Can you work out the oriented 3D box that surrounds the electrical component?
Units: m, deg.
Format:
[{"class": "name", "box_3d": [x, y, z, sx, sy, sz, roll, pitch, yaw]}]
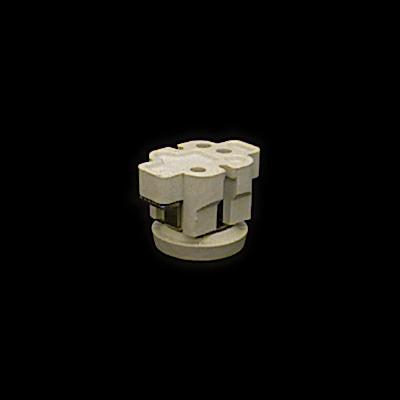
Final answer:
[{"class": "electrical component", "box_3d": [0.000, 0.000, 0.644, 0.079, 0.057, 0.057, -19, 30, -38]}]
